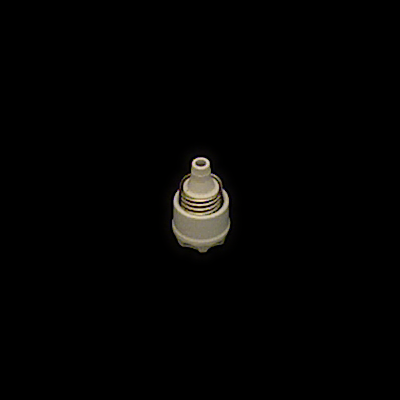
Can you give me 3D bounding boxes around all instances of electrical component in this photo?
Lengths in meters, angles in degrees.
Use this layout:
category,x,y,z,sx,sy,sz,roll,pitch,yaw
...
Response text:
category,x,y,z,sx,sy,sz,roll,pitch,yaw
electrical component,0.000,0.000,0.643,0.035,0.062,0.035,0,44,1
